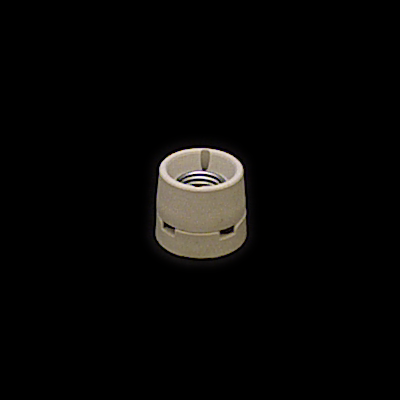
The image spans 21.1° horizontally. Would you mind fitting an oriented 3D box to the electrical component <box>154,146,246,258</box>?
[{"bbox_3d":[0.000,0.000,0.636,0.055,0.047,0.055,0,32,0],"label":"electrical component"}]
